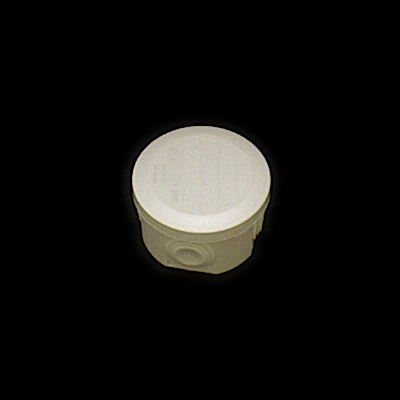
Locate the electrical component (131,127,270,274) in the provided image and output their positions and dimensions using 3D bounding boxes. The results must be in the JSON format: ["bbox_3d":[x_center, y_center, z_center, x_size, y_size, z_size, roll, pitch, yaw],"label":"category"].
[{"bbox_3d":[0.000,0.000,0.633,0.080,0.080,0.051,0,-38,-1],"label":"electrical component"}]
